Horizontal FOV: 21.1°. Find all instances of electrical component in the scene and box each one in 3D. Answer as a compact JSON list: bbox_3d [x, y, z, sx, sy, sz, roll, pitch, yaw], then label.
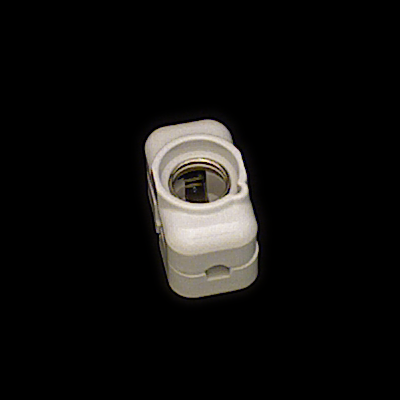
[{"bbox_3d":[0.000,0.000,0.635,0.054,0.094,0.059,-10,-36,-7],"label":"electrical component"}]
